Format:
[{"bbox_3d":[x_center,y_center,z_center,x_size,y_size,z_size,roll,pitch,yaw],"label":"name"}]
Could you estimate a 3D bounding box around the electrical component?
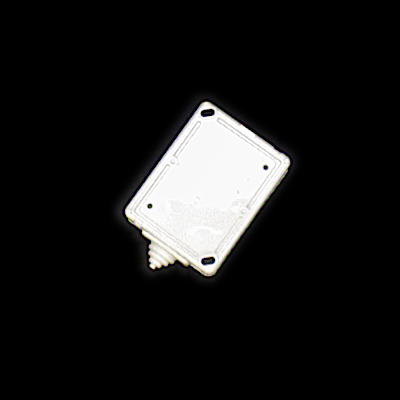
[{"bbox_3d":[0.000,0.000,0.625,0.062,0.096,0.060,35,-6,3],"label":"electrical component"}]
